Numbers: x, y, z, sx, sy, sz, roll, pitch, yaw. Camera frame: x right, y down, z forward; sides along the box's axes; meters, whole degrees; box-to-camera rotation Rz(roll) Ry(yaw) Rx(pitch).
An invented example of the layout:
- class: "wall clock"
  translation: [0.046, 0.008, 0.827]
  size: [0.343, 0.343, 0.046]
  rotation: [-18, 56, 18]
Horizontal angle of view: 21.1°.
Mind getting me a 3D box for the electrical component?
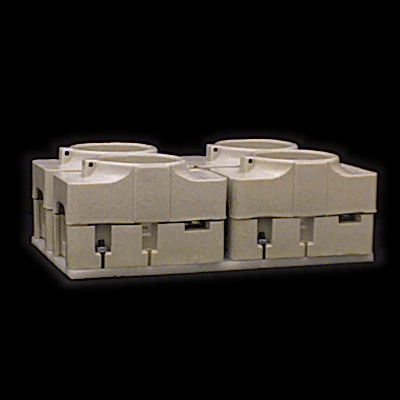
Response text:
- class: "electrical component"
  translation: [0.000, 0.000, 0.643]
  size: [0.186, 0.061, 0.104]
  rotation: [-3, 11, -20]
